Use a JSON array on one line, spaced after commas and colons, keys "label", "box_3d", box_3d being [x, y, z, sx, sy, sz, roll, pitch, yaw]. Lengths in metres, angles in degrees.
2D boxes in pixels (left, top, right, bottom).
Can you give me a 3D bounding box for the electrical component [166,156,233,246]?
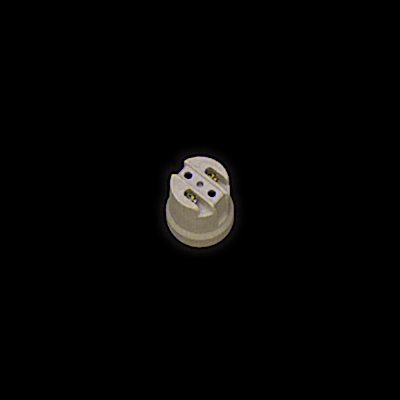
[{"label": "electrical component", "box_3d": [0.000, 0.000, 0.632, 0.040, 0.040, 0.046, 0, -27, 0]}]
